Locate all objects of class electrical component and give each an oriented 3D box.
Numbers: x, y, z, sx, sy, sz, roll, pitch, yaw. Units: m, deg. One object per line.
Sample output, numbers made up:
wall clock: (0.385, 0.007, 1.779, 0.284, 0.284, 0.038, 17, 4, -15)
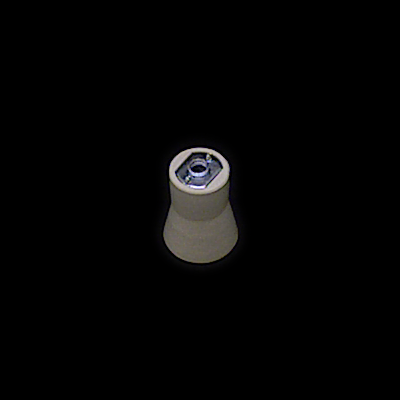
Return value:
electrical component: (0.000, 0.000, 0.627, 0.044, 0.044, 0.065, 0, -38, 1)
